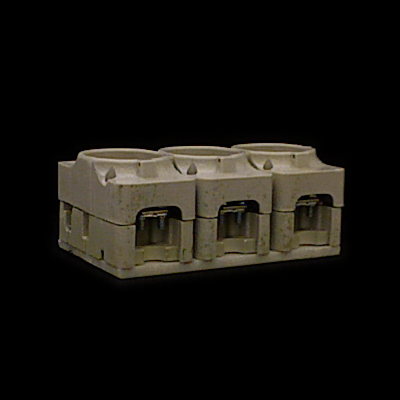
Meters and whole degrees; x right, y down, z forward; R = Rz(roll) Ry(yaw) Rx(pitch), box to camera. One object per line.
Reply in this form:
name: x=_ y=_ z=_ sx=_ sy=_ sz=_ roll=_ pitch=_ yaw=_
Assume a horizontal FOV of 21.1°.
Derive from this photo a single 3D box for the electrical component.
electrical component: x=0.000 y=0.000 z=0.650 sx=0.150 sy=0.062 sz=0.088 roll=-5 pitch=12 yaw=-30
